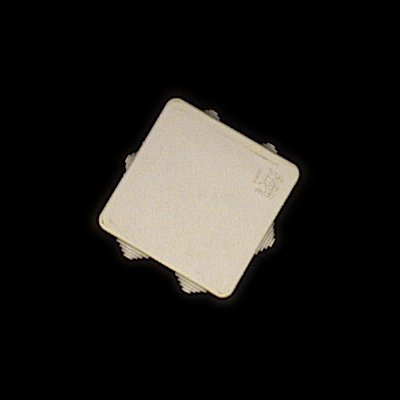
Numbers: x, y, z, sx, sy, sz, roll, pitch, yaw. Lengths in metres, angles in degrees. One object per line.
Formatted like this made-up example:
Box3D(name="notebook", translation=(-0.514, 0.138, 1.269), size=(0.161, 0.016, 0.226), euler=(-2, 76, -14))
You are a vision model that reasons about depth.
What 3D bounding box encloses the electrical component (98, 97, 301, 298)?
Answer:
Box3D(name="electrical component", translation=(0.000, 0.000, 0.642), size=(0.100, 0.100, 0.048), euler=(30, -6, 3))
